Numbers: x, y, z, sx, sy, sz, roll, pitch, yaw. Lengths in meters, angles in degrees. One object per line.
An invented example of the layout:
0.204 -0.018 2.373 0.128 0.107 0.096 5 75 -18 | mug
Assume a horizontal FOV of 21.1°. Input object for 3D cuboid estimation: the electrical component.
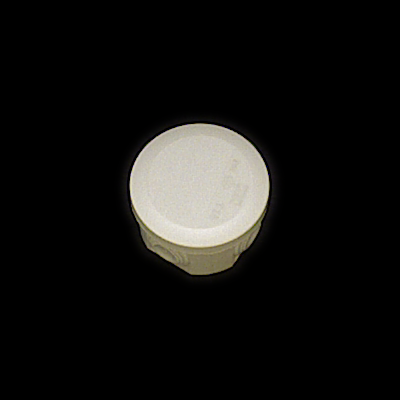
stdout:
0.000 0.000 0.629 0.080 0.080 0.050 0 -27 0 | electrical component
